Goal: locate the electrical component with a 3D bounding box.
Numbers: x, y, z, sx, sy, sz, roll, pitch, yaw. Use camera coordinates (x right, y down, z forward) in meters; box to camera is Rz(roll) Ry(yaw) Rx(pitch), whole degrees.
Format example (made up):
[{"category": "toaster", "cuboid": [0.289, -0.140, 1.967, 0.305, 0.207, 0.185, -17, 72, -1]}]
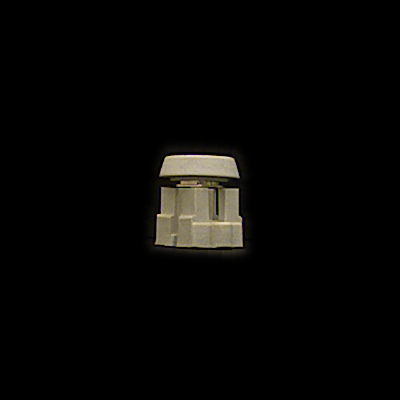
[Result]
[{"category": "electrical component", "cuboid": [0.000, 0.000, 0.656, 0.049, 0.055, 0.066, 2, 0, -35]}]
